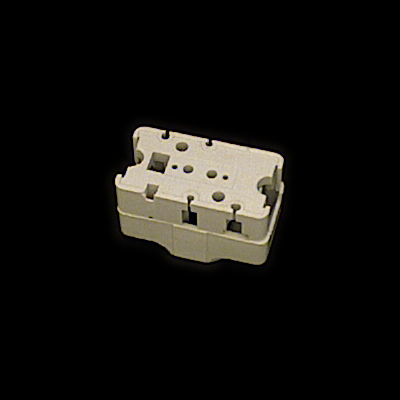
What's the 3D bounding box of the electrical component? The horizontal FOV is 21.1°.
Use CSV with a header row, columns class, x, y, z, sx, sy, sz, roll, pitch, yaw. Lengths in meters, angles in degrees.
class,x,y,z,sx,sy,sz,roll,pitch,yaw
electrical component,0.000,0.000,0.637,0.089,0.050,0.056,12,-35,9
